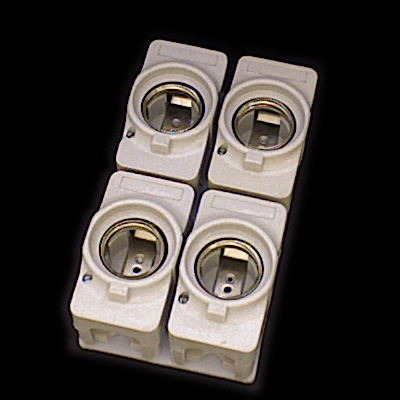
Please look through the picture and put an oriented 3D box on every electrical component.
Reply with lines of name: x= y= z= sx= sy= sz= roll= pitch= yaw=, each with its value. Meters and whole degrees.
electrical component: x=0.000 y=0.000 z=0.625 sx=0.105 sy=0.186 sz=0.060 roll=12 pitch=-26 yaw=5
